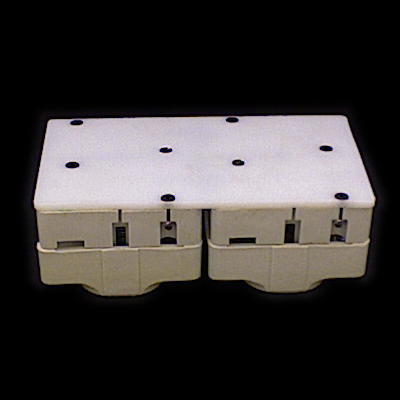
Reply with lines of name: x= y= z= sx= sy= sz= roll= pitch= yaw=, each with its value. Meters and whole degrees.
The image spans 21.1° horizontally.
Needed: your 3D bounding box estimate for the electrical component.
electrical component: x=0.000 y=0.000 z=0.633 sx=0.186 sy=0.061 sz=0.104 roll=-1 pitch=31 yaw=-3
